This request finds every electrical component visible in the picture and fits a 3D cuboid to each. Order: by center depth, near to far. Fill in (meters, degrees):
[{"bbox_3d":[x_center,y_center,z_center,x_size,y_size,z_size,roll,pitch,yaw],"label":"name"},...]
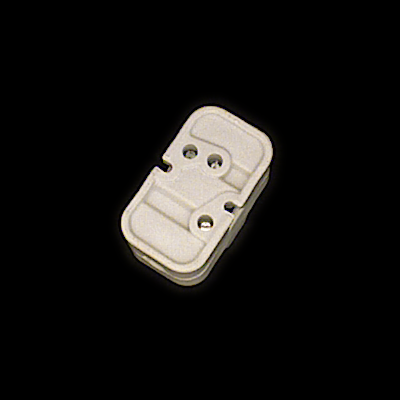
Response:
[{"bbox_3d":[0.000,0.000,0.635,0.053,0.096,0.059,32,-13,9],"label":"electrical component"}]
